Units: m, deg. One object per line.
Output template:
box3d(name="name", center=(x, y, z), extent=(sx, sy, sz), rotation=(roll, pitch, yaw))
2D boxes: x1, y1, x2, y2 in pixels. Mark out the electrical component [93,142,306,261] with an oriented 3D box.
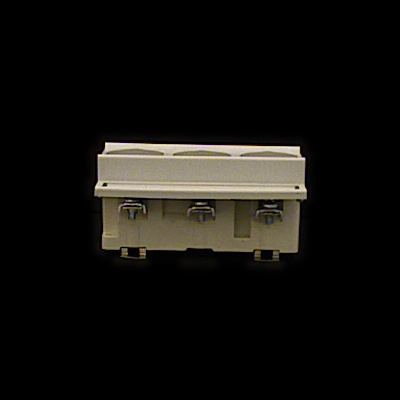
box3d(name="electrical component", center=(0.000, 0.000, 0.656), extent=(0.121, 0.063, 0.078), rotation=(1, 13, 1))
